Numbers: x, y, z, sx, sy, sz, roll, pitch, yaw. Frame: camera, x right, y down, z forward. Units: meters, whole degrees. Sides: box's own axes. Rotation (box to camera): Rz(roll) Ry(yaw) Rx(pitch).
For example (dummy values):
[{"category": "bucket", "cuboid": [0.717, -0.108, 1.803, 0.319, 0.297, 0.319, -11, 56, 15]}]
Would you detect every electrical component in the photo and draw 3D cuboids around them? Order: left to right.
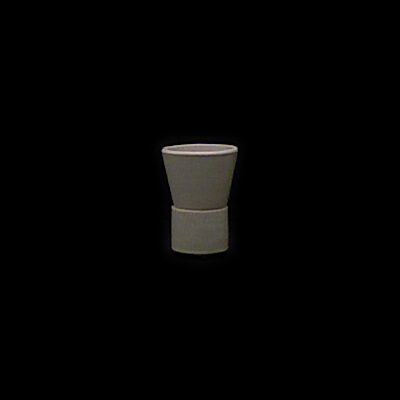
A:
[{"category": "electrical component", "cuboid": [0.000, 0.000, 0.642, 0.044, 0.066, 0.044, 0, 12, 0]}]
